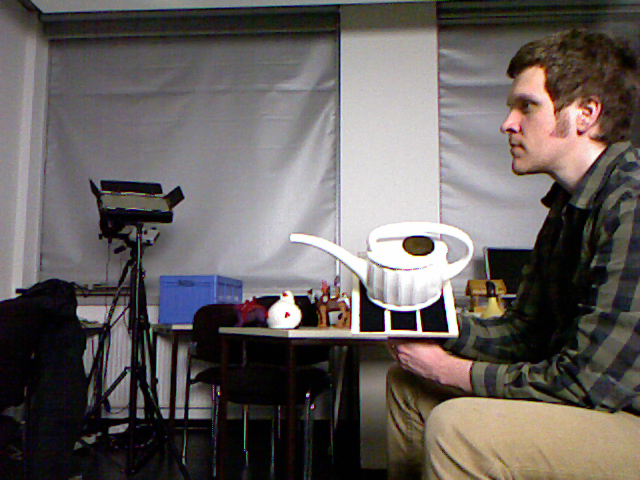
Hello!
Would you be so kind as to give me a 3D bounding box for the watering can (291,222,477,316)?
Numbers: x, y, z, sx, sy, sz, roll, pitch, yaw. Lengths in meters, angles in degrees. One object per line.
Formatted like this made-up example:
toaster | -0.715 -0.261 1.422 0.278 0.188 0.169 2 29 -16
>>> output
watering can | 0.123 0.051 1.001 0.348 0.219 0.107 -2 44 0
